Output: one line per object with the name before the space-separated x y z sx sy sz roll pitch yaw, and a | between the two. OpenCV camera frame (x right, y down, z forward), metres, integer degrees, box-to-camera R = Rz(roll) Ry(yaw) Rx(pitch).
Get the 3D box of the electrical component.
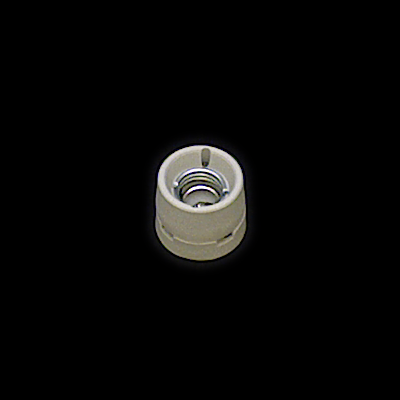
electrical component | 0.000 0.000 0.633 0.055 0.055 0.047 0 -37 0
